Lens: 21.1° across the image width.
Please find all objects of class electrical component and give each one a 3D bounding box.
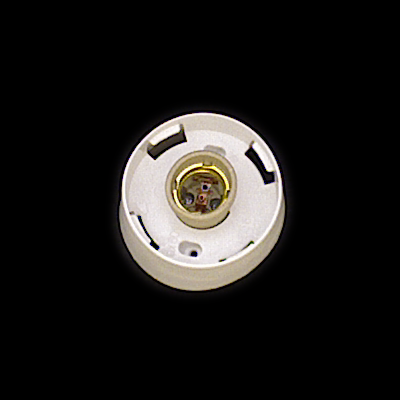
[{"bbox_3d":[0.000,0.000,0.625,0.099,0.099,0.064,0,-17,0],"label":"electrical component"}]
